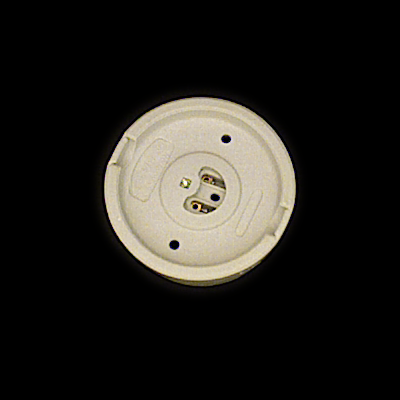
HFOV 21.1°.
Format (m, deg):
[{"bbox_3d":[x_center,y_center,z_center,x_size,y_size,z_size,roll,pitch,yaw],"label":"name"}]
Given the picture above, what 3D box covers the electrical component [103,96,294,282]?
[{"bbox_3d":[0.000,0.000,0.633,0.108,0.108,0.060,0,-16,0],"label":"electrical component"}]
